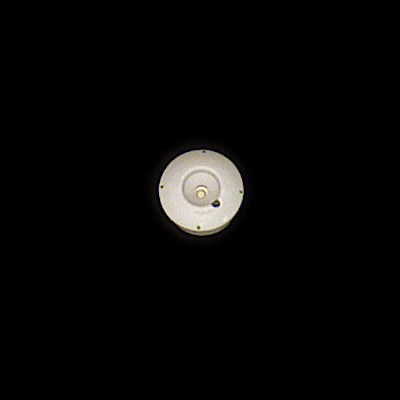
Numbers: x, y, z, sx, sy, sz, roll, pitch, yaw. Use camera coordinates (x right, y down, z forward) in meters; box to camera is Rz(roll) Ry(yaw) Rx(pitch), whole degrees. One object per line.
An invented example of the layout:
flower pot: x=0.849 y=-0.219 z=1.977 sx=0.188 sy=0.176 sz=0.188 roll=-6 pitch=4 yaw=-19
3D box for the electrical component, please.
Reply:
electrical component: x=0.000 y=0.000 z=0.634 sx=0.048 sy=0.048 sz=0.062 roll=0 pitch=-16 yaw=1
